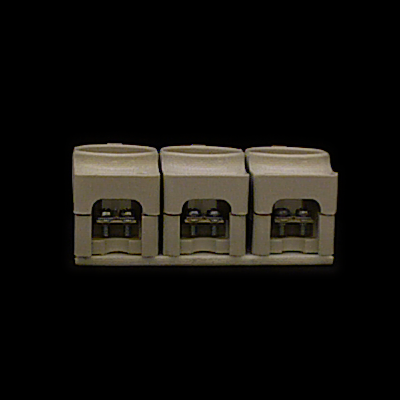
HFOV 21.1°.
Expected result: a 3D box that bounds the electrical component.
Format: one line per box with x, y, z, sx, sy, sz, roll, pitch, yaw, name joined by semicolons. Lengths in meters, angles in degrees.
0.000;0.000;0.652;0.150;0.062;0.088;1;10;-5;electrical component
